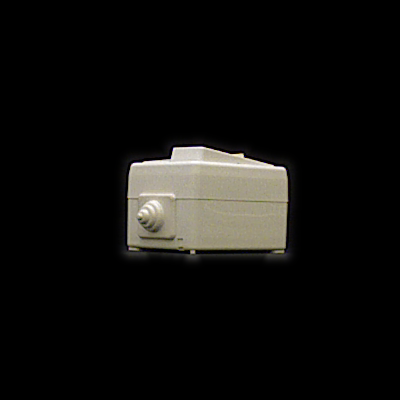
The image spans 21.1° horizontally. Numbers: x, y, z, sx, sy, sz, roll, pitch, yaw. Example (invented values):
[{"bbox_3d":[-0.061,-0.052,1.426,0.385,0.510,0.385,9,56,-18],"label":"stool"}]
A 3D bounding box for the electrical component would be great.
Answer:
[{"bbox_3d":[0.000,0.000,0.648,0.096,0.061,0.061,2,0,-43],"label":"electrical component"}]
